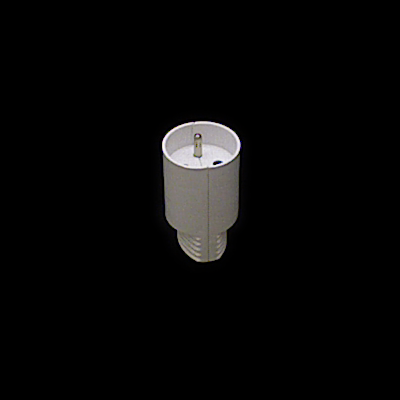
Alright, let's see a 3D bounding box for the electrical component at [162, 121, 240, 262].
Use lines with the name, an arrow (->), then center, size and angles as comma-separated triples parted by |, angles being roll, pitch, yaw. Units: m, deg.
electrical component -> 0.000, 0.000, 0.623 | 0.043, 0.082, 0.042 | 1, 41, 0
